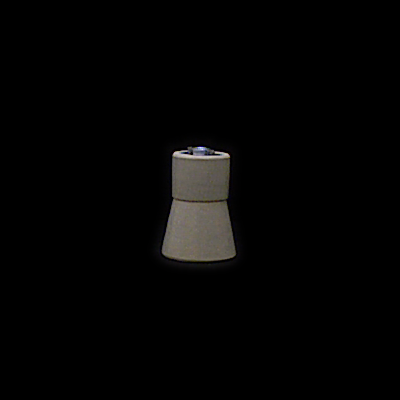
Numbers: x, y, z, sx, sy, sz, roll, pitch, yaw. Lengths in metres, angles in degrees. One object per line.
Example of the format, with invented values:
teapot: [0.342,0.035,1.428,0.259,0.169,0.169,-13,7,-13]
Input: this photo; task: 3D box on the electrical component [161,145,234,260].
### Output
electrical component: [0.000,0.000,0.644,0.044,0.066,0.044,2,10,0]
